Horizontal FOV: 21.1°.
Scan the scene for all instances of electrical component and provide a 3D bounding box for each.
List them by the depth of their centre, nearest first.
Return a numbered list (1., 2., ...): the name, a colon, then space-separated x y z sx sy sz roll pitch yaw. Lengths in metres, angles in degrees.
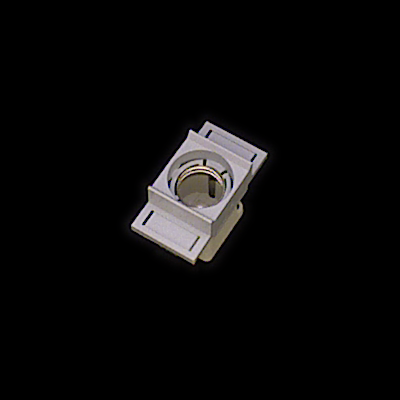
1. electrical component: 0.000 0.000 0.623 0.042 0.081 0.063 30 -24 13
